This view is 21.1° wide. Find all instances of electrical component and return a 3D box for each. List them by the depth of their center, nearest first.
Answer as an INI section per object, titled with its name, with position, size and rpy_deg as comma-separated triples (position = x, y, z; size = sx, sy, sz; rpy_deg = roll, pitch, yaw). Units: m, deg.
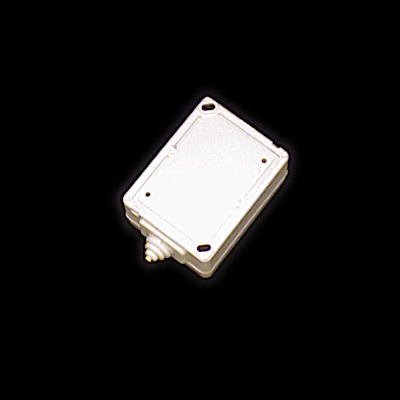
[electrical component]
position = 0.000, 0.000, 0.628
size = 0.062, 0.097, 0.060
rpy_deg = 36, -13, 10
